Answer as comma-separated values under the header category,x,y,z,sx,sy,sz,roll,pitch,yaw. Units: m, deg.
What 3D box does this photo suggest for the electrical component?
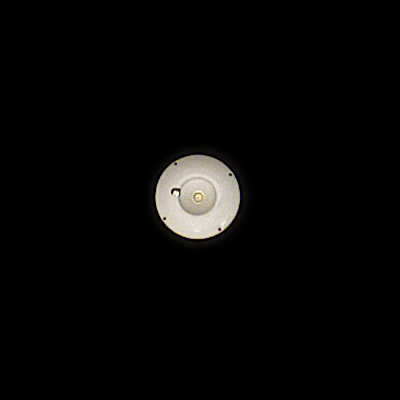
category,x,y,z,sx,sy,sz,roll,pitch,yaw
electrical component,0.000,0.000,0.634,0.048,0.048,0.061,0,-6,1
